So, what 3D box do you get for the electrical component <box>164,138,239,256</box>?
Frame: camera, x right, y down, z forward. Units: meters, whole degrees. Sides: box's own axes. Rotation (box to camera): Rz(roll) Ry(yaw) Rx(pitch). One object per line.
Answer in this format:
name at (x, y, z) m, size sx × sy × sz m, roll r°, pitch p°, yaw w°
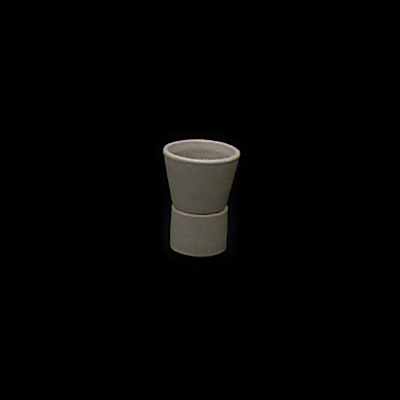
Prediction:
electrical component at (0.000, 0.000, 0.640) m, size 0.044 × 0.066 × 0.044 m, roll 2°, pitch 20°, yaw -1°
